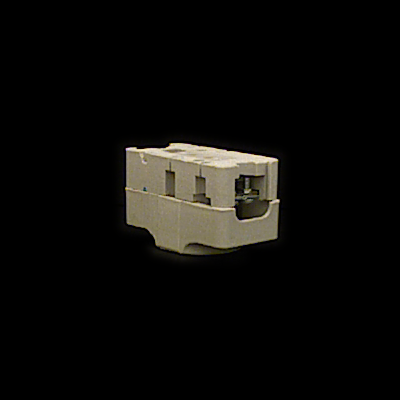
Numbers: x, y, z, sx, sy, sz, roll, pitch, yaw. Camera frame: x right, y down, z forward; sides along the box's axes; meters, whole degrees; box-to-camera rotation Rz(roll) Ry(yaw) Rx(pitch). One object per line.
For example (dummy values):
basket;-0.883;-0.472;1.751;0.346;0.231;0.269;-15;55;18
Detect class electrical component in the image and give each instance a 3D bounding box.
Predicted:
electrical component;0.000;0.000;0.651;0.050;0.056;0.088;-11;16;-42
